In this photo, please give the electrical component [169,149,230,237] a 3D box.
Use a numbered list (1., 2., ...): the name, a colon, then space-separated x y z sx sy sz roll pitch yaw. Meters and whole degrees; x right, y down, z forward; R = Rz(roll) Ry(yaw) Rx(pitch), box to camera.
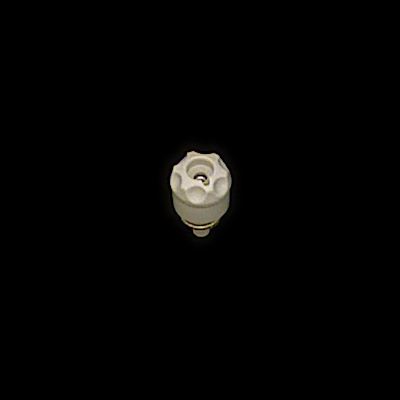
1. electrical component: 0.000 0.000 0.633 0.035 0.035 0.061 0 -37 0
